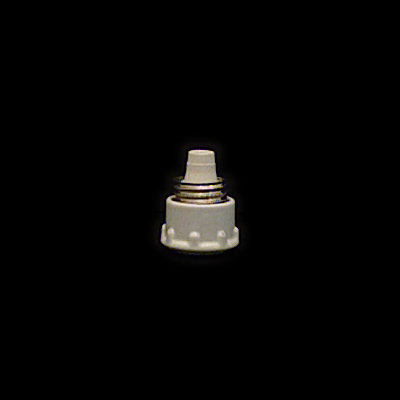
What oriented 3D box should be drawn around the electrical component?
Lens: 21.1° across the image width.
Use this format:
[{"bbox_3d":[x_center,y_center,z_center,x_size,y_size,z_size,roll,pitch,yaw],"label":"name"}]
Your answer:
[{"bbox_3d":[0.000,0.000,0.652,0.048,0.062,0.048,1,11,0],"label":"electrical component"}]
